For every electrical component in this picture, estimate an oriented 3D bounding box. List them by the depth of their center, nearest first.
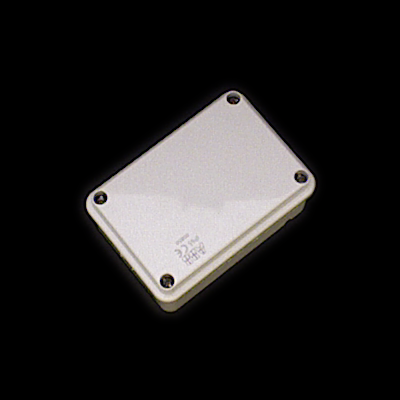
[{"bbox_3d":[0.000,0.000,0.626,0.113,0.078,0.057,-37,-13,-11],"label":"electrical component"}]
